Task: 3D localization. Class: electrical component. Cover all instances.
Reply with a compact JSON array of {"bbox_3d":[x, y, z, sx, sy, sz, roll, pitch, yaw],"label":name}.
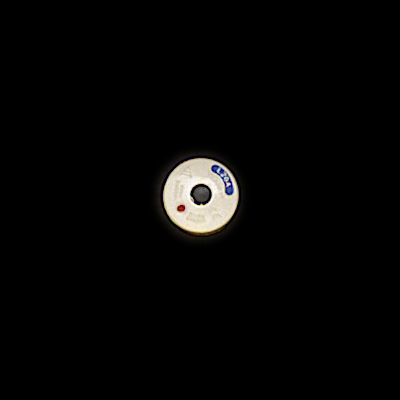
[{"bbox_3d":[0.000,0.000,0.617,0.040,0.040,0.078,0,-5,1],"label":"electrical component"}]
